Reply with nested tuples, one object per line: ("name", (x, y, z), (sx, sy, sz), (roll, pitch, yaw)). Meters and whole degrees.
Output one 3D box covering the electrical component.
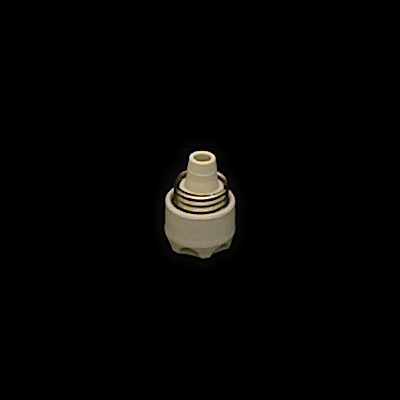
("electrical component", (0.000, 0.000, 0.641), (0.043, 0.063, 0.043), (2, 33, -1))
